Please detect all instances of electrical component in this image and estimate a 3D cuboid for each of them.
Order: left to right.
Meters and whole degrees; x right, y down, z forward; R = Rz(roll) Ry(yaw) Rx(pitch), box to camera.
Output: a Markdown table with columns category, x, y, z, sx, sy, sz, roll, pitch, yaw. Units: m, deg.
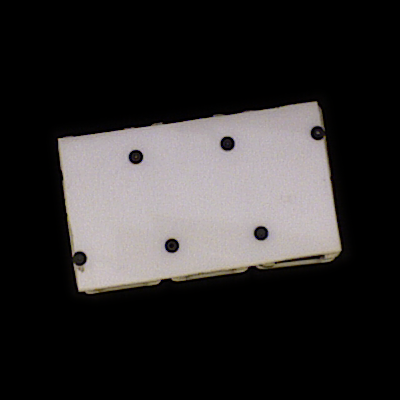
| category | x | y | z | sx | sy | sz | roll | pitch | yaw |
| --- | --- | --- | --- | --- | --- | --- | --- | --- | --- |
| electrical component | 0.000 | 0.000 | 0.631 | 0.150 | 0.089 | 0.061 | -8 | -6 | -1 |
